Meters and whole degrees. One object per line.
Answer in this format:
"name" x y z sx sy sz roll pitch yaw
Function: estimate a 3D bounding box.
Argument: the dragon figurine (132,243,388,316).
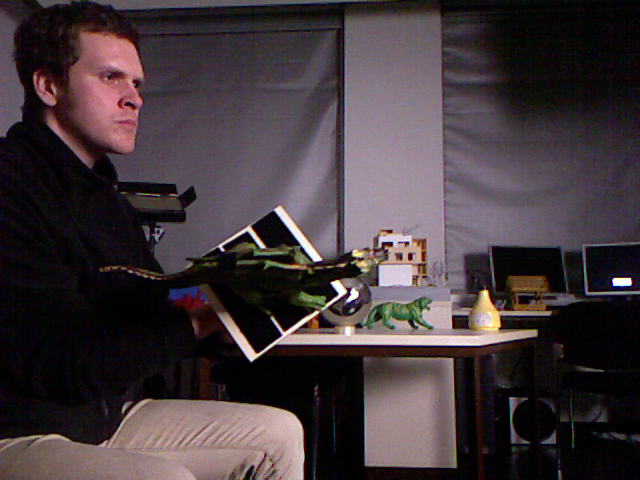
"dragon figurine" -0.106 0.041 0.769 0.412 0.124 0.240 -2 -15 -2
